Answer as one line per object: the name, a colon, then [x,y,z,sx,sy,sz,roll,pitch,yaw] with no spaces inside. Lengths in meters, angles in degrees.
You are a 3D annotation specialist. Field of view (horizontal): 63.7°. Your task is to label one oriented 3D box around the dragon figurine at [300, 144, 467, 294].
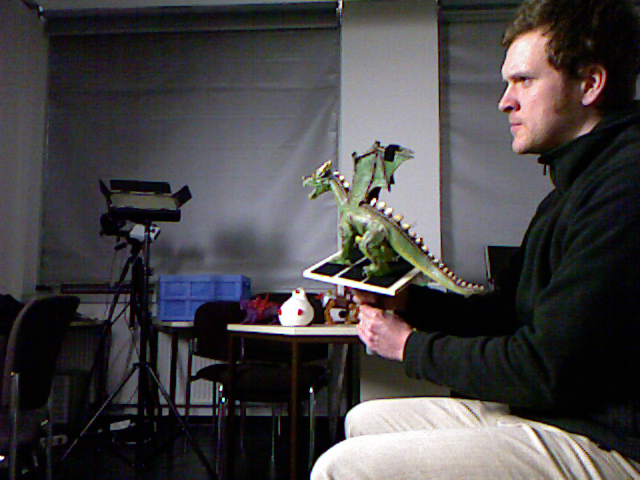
dragon figurine: [0.115,-0.063,1.002,0.414,0.240,0.124,18,26,41]
